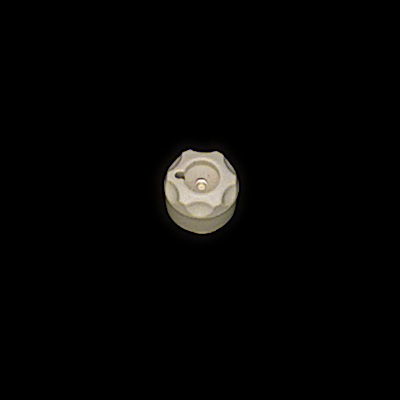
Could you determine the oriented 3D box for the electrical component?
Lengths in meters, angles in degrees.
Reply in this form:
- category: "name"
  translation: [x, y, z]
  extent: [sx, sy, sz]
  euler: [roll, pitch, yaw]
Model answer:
- category: "electrical component"
  translation: [0.000, 0.000, 0.634]
  extent: [0.043, 0.043, 0.062]
  euler: [0, -27, 0]
